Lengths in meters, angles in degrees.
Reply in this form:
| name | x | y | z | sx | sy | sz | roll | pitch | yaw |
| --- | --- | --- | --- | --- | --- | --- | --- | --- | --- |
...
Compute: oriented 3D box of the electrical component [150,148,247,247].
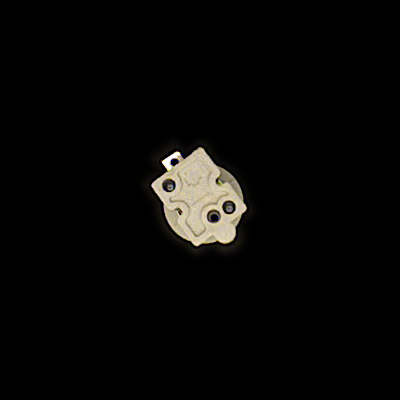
| name | x | y | z | sx | sy | sz | roll | pitch | yaw |
| --- | --- | --- | --- | --- | --- | --- | --- | --- | --- |
| electrical component | 0.000 | 0.000 | 0.639 | 0.048 | 0.066 | 0.055 | -36 | -6 | -1 |
